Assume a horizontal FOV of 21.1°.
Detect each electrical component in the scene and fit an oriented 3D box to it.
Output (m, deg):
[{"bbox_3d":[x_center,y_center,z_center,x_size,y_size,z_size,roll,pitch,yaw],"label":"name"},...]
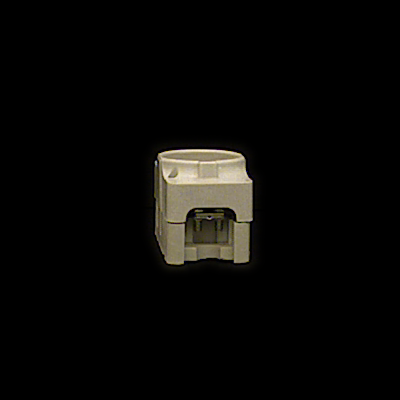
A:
[{"bbox_3d":[0.000,0.000,0.651,0.050,0.056,0.088,-1,11,-8],"label":"electrical component"}]
